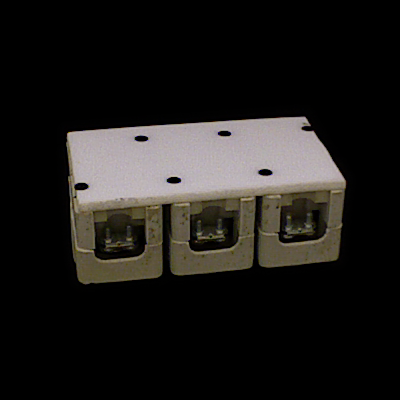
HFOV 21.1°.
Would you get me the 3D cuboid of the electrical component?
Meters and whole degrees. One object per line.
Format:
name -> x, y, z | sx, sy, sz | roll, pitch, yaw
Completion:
electrical component -> 0.000, 0.000, 0.638 | 0.150, 0.063, 0.087 | -5, 31, -9
